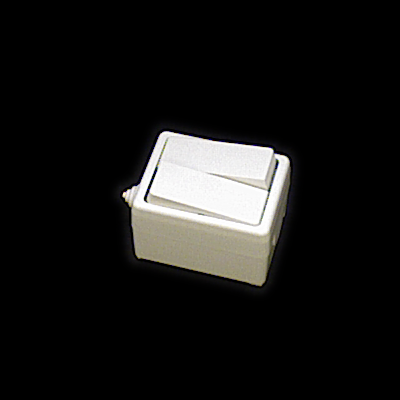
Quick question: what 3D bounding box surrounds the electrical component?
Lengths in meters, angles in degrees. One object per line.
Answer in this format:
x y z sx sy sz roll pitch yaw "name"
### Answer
0.000 0.000 0.629 0.096 0.061 0.061 13 -37 9 "electrical component"
